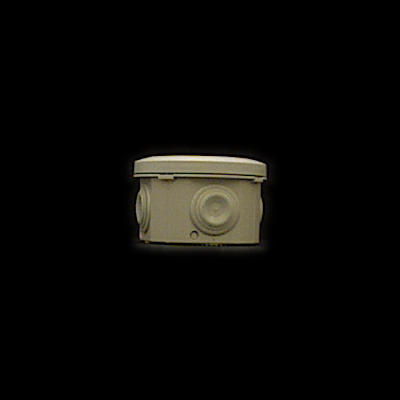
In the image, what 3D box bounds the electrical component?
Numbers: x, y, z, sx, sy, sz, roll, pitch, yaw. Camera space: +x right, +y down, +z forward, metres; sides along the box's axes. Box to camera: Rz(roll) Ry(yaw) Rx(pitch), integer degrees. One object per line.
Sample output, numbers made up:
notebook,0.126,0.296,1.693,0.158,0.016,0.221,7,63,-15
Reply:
electrical component,0.000,0.000,0.648,0.080,0.051,0.080,1,0,0
